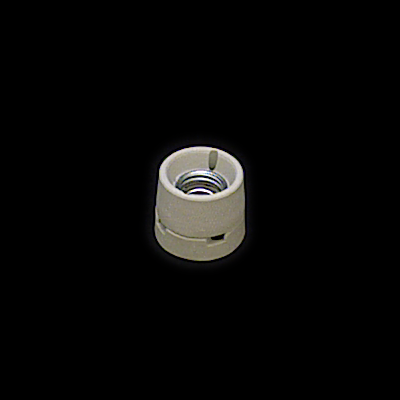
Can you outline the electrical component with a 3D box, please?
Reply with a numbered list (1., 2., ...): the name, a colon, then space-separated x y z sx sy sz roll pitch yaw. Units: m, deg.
1. electrical component: 0.000 0.000 0.637 0.055 0.047 0.055 1 41 -1
